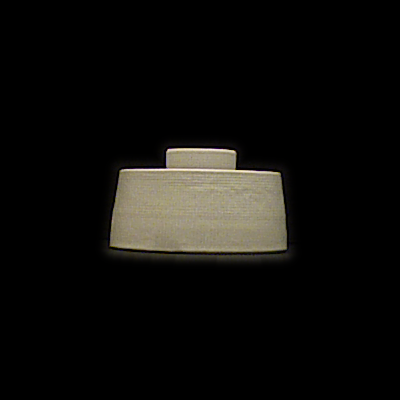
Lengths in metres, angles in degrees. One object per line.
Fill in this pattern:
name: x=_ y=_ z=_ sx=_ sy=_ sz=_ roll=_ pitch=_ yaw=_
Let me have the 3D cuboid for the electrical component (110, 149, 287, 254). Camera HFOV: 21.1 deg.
electrical component: x=0.000 y=0.000 z=0.655 sx=0.108 sy=0.060 sz=0.108 roll=1 pitch=1 yaw=1
